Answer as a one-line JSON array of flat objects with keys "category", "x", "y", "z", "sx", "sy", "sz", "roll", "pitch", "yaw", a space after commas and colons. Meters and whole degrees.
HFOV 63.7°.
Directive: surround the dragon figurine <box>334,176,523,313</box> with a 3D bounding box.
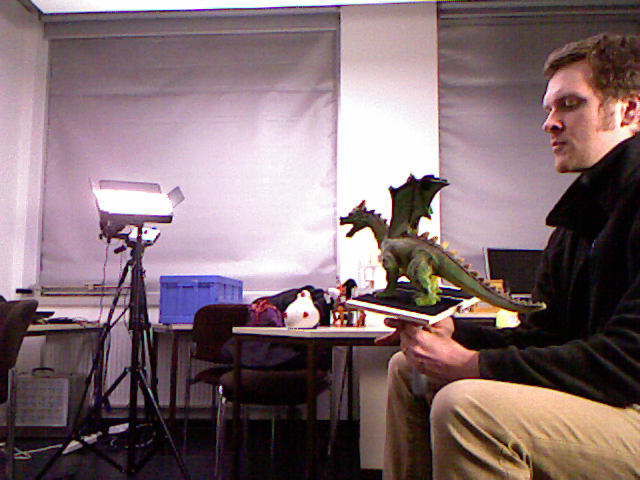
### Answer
[{"category": "dragon figurine", "x": 0.198, "y": -0.003, "z": 1.015, "sx": 0.411, "sy": 0.240, "sz": 0.123, "roll": 6, "pitch": 18, "yaw": 41}]
